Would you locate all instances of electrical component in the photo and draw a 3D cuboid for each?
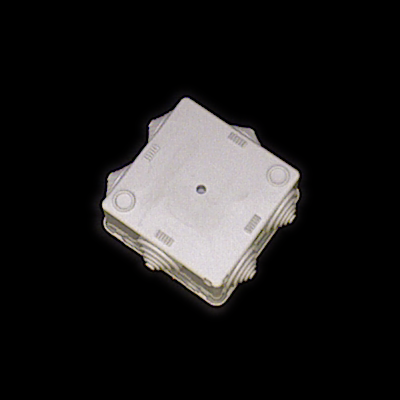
[{"bbox_3d":[0.000,0.000,0.631,0.100,0.100,0.048,35,-13,10],"label":"electrical component"}]
